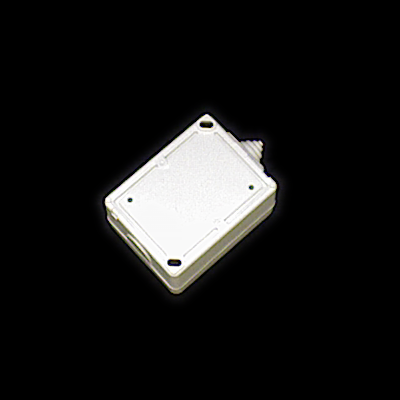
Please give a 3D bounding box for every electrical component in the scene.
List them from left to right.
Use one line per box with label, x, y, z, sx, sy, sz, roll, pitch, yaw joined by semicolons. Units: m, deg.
electrical component;0.000;0.000;0.628;0.096;0.062;0.061;-41;-13;-11
